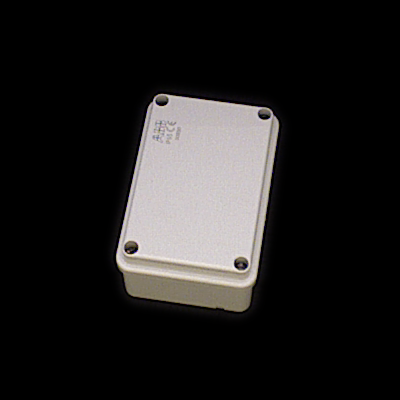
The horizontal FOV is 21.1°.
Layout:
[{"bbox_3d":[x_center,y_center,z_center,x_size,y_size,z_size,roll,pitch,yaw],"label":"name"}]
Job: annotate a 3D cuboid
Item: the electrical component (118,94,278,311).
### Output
[{"bbox_3d":[0.000,0.000,0.627,0.078,0.113,0.057,8,-27,4],"label":"electrical component"}]
